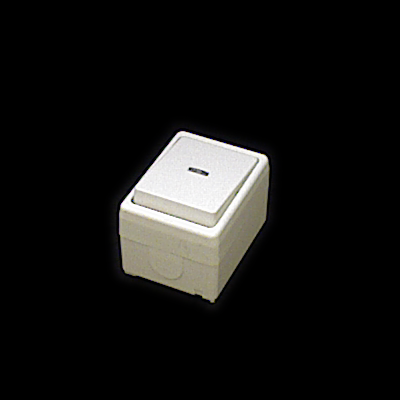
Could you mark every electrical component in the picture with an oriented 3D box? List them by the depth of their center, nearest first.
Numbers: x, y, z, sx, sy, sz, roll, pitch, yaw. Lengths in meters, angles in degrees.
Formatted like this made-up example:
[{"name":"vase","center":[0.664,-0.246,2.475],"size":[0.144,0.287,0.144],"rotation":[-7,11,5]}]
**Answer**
[{"name":"electrical component","center":[0.000,0.000,0.632],"size":[0.061,0.061,0.095],"rotation":[18,44,18]}]
